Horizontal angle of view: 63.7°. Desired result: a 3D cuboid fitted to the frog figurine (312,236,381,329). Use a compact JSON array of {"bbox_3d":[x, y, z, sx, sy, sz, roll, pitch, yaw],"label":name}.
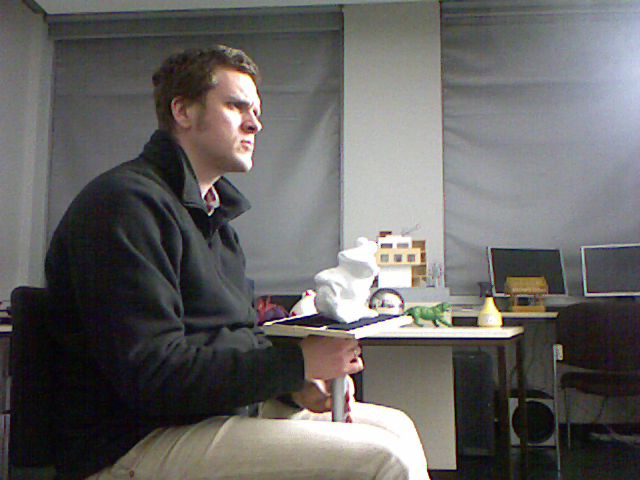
[{"bbox_3d":[0.049,0.072,0.954,0.138,0.159,0.122,-1,2,-34],"label":"frog figurine"}]
